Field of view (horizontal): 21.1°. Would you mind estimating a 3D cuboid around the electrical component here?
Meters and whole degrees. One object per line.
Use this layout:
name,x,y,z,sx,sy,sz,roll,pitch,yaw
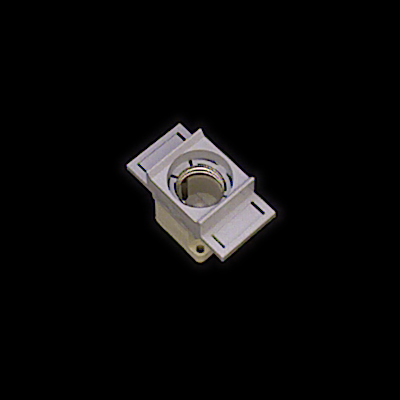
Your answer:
electrical component,0.000,0.000,0.623,0.042,0.081,0.063,-39,-21,-19
